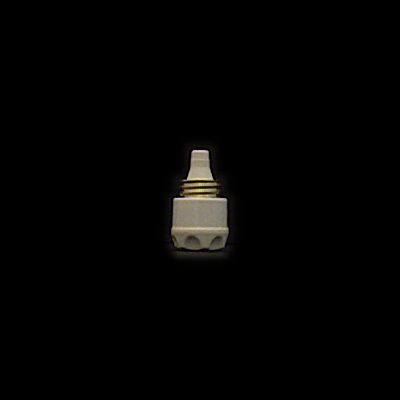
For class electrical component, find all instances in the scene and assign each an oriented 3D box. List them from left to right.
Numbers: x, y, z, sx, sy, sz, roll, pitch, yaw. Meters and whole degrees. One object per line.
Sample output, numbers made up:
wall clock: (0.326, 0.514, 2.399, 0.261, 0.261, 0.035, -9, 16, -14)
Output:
electrical component: (0.000, 0.000, 0.660, 0.035, 0.061, 0.035, 0, 1, 0)
